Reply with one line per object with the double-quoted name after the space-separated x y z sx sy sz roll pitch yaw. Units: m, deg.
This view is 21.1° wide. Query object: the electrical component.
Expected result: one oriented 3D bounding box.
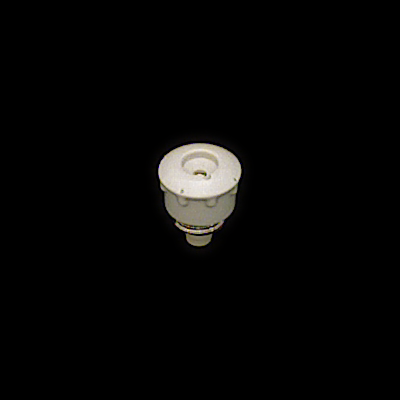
0.000 0.000 0.638 0.048 0.062 0.047 1 43 0 "electrical component"
